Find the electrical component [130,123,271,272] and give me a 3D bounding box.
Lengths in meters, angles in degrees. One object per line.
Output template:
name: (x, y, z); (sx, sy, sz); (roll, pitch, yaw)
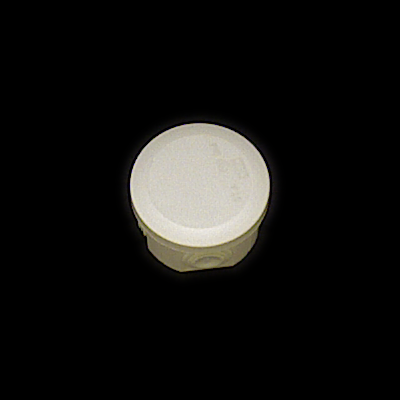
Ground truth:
electrical component: (0.000, 0.000, 0.629); (0.080, 0.080, 0.050); (0, -27, 0)
